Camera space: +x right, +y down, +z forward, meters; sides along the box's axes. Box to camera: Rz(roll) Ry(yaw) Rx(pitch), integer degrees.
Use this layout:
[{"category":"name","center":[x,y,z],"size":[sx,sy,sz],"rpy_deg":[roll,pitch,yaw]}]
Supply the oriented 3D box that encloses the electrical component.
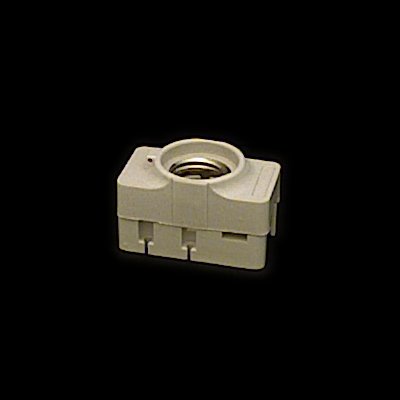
[{"category":"electrical component","center":[0.000,0.000,0.643],"size":[0.089,0.056,0.050],"rpy_deg":[7,33,9]}]
